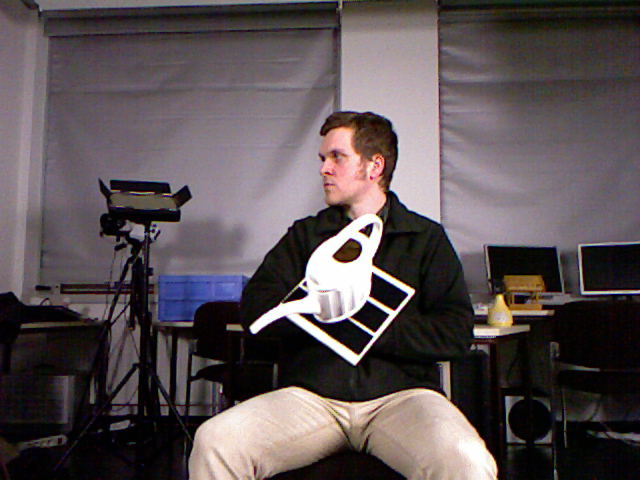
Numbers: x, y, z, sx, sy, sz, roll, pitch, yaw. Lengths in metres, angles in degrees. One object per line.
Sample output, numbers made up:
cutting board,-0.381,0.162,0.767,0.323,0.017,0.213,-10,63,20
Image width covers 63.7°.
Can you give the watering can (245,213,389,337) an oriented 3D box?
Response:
watering can,0.008,0.090,0.962,0.105,0.353,0.219,36,-26,29
